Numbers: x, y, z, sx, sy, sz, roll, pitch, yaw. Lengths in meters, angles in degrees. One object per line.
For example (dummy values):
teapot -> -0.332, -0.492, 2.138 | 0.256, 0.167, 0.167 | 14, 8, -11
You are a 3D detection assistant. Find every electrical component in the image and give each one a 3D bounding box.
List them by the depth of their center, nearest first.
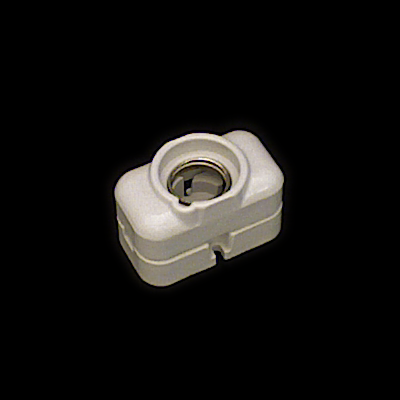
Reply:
electrical component -> 0.000, 0.000, 0.634 | 0.095, 0.053, 0.059 | -23, -34, -16
